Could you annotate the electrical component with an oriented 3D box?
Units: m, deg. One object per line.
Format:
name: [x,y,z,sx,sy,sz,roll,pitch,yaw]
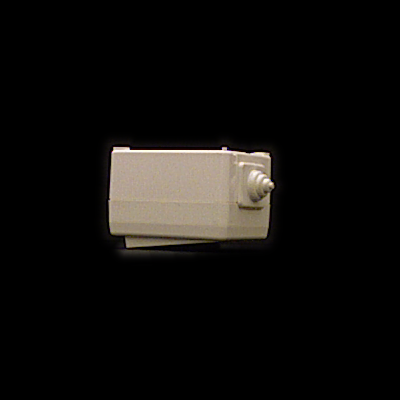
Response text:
electrical component: [0.000,0.000,0.647,0.096,0.061,0.062,2,1,29]
